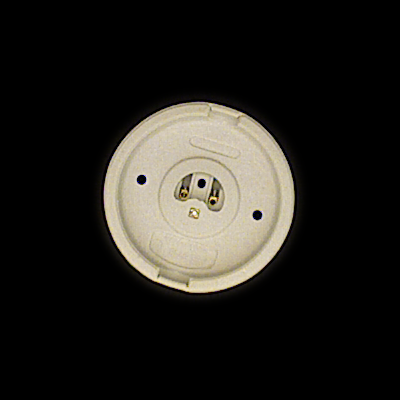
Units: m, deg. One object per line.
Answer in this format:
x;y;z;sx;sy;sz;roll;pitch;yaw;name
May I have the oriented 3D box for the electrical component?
0.000;0.000;0.634;0.108;0.108;0.060;0;-6;0;electrical component
